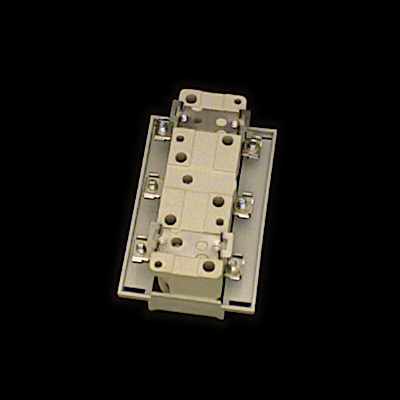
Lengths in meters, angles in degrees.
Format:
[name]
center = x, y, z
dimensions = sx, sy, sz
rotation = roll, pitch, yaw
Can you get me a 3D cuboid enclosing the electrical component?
[electrical component]
center = 0.000, 0.000, 0.634
dimensions = 0.079, 0.121, 0.063
rotation = 7, -26, 3
